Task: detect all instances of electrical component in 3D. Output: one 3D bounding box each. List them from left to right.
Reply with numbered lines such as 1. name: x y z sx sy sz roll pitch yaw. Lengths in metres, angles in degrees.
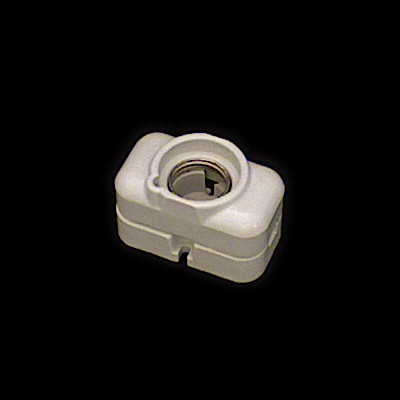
1. electrical component: 0.000 0.000 0.634 0.095 0.054 0.059 18 -35 13
